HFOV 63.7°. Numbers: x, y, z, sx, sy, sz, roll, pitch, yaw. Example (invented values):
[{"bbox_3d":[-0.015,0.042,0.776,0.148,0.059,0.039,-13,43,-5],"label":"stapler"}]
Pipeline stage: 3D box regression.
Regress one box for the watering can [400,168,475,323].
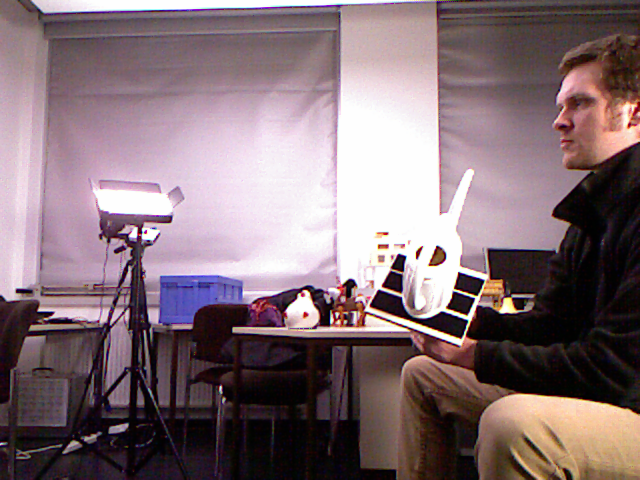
[{"bbox_3d":[0.248,0.022,1.062,0.105,0.219,0.355,21,52,20],"label":"watering can"}]
